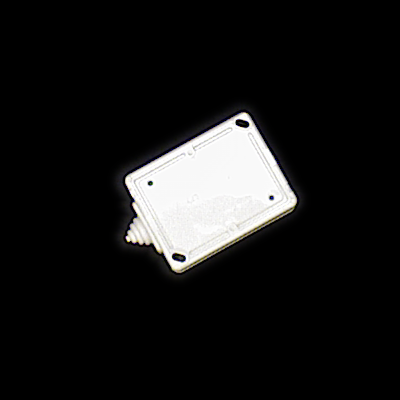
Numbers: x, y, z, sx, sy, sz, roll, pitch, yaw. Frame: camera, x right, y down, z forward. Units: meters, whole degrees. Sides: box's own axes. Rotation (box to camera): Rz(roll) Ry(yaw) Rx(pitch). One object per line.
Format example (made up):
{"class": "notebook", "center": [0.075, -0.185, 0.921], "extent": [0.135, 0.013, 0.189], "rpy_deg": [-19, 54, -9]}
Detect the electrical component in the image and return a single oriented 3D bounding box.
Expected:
{"class": "electrical component", "center": [-0.001, 0.000, 0.626], "extent": [0.096, 0.062, 0.061], "rpy_deg": [-29, -5, -3]}
